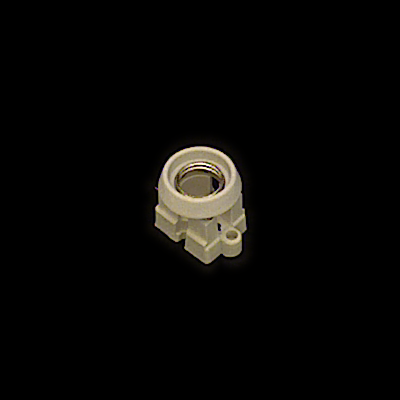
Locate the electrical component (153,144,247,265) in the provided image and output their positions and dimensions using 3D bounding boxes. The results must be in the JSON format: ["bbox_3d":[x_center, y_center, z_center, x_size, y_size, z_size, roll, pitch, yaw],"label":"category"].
[{"bbox_3d":[0.000,0.000,0.638,0.066,0.055,0.049,35,58,23],"label":"electrical component"}]
